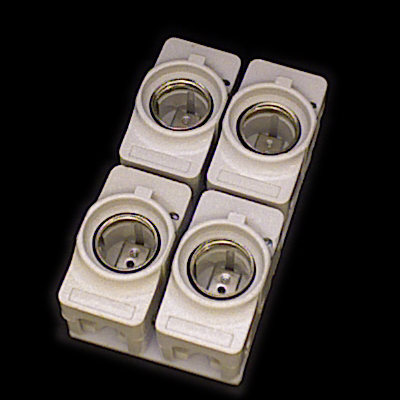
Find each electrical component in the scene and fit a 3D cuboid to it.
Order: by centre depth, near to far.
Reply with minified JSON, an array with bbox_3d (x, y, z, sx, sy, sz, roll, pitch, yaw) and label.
[{"bbox_3d":[0.000,0.000,0.626,0.105,0.187,0.060,16,-26,8],"label":"electrical component"}]
